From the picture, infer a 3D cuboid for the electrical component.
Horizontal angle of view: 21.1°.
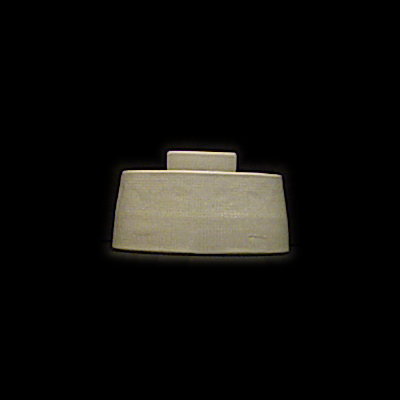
[{"bbox_3d":[0.000,0.000,0.657,0.108,0.060,0.108,1,1,1],"label":"electrical component"}]
